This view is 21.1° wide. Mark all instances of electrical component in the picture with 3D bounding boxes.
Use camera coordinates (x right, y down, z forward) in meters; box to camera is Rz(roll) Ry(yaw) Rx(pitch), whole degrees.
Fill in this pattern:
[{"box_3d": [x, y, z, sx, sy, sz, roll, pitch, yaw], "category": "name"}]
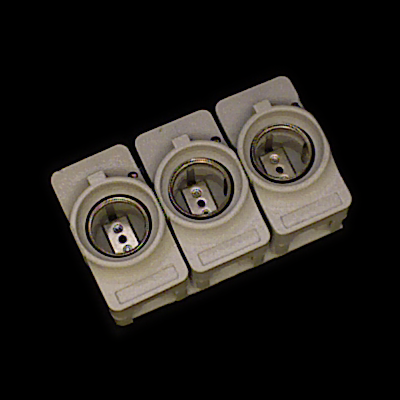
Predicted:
[{"box_3d": [0.000, 0.000, 0.632, 0.150, 0.089, 0.062, -24, -16, -7], "category": "electrical component"}]
